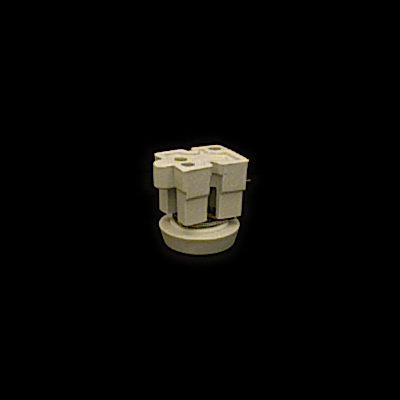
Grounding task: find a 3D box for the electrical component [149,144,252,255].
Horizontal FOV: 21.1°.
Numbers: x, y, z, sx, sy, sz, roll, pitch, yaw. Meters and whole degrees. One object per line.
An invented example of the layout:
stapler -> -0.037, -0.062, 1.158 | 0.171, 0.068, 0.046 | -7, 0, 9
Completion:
electrical component -> 0.000, 0.000, 0.646 | 0.067, 0.056, 0.047 | -11, 24, -29
